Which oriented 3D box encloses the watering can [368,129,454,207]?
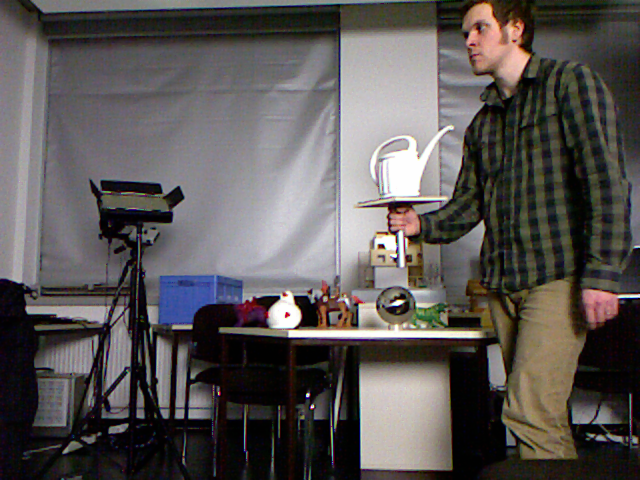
[{"bbox_3d":[0.271,-0.212,1.569,0.104,0.224,0.347,-8,3,-37],"label":"watering can"}]
